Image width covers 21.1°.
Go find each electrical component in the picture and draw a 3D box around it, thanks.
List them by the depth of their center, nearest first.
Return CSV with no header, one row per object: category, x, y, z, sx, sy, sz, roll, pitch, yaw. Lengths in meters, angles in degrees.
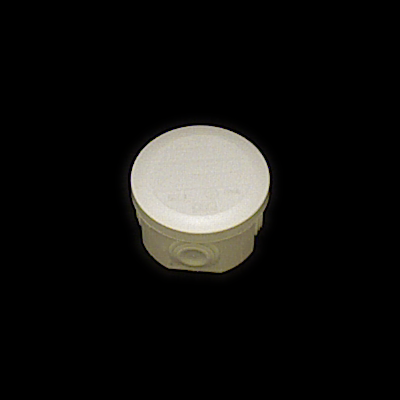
electrical component,0.000,0.000,0.631,0.080,0.080,0.051,0,-38,0
